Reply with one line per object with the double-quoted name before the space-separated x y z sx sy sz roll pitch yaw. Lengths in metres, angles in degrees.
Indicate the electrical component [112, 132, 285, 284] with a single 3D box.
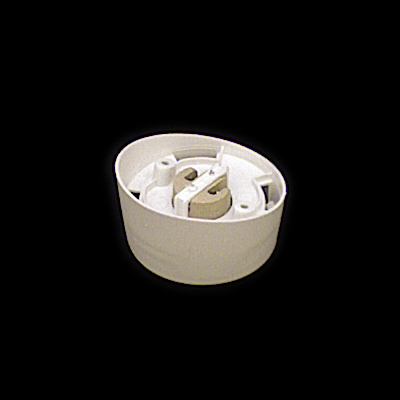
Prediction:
"electrical component" 0.000 0.000 0.628 0.099 0.064 0.098 0 43 0
